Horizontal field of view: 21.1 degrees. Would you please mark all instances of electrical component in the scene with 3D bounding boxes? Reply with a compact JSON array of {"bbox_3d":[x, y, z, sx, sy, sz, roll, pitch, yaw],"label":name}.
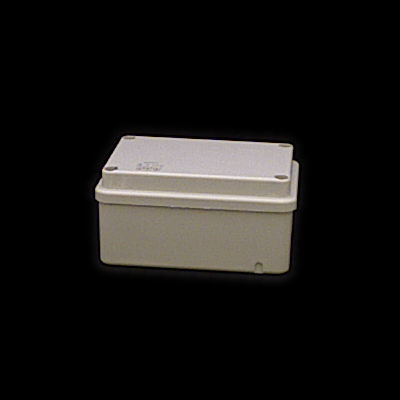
[{"bbox_3d":[0.000,0.000,0.637,0.113,0.058,0.077,3,21,5],"label":"electrical component"}]
